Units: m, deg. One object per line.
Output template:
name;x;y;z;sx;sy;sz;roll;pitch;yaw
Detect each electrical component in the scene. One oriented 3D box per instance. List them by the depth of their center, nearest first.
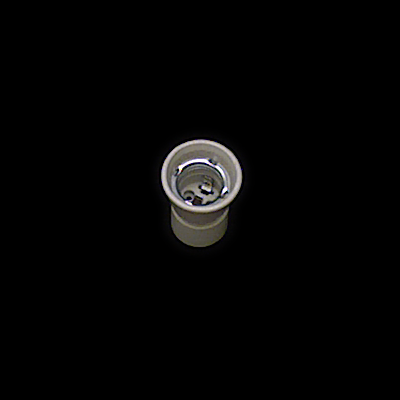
electrical component;0.000;0.000;0.624;0.044;0.044;0.065;0;-27;-1
